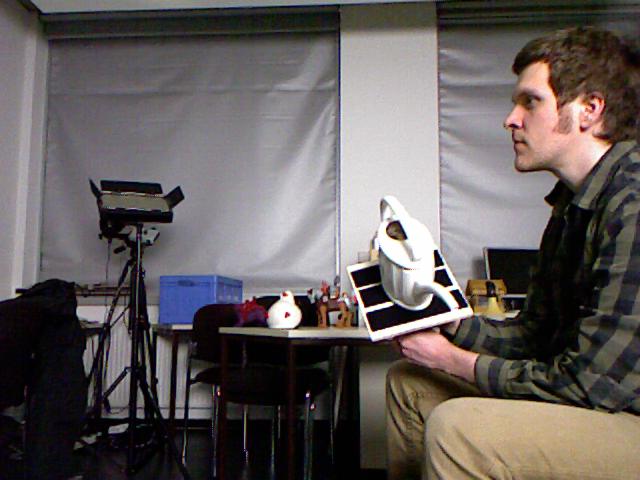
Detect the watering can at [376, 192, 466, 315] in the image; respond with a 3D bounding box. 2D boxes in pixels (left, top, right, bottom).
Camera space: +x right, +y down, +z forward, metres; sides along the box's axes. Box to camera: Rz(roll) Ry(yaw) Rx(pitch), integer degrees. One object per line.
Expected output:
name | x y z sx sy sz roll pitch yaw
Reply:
watering can | 0.178 0.059 0.980 0.104 0.219 0.356 -17 44 -5
